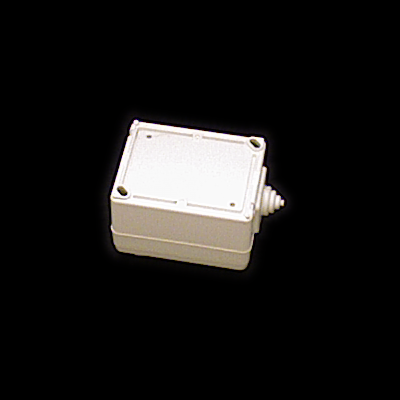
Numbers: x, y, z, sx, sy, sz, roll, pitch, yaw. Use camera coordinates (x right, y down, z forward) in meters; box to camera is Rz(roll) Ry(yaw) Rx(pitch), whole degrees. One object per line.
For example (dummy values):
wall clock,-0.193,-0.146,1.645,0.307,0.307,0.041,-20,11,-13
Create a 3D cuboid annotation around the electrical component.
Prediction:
electrical component,0.000,0.000,0.627,0.096,0.062,0.061,8,-37,5
